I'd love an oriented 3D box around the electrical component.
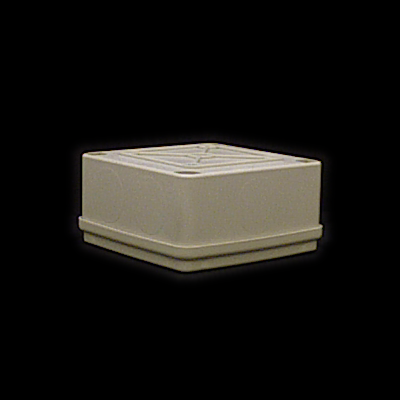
[{"bbox_3d":[0.000,0.000,0.642,0.108,0.056,0.108,-8,14,-38],"label":"electrical component"}]
